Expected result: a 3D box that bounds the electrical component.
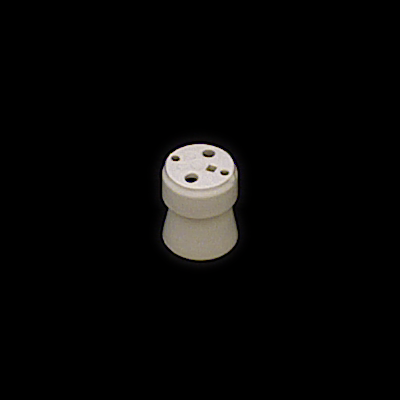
[{"bbox_3d":[0.000,0.000,0.631,0.045,0.055,0.044,0,42,0],"label":"electrical component"}]
